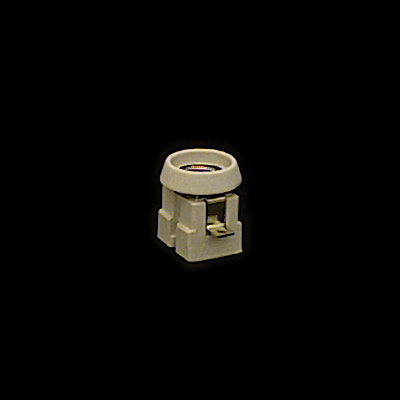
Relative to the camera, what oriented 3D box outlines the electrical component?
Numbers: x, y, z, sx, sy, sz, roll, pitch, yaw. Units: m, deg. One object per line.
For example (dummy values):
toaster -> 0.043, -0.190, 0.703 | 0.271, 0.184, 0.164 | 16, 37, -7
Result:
electrical component -> 0.000, 0.000, 0.646 | 0.048, 0.056, 0.065 | -13, 26, -27
